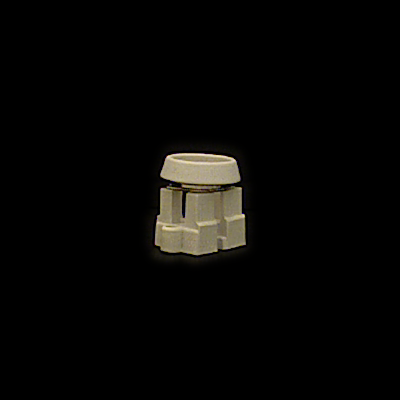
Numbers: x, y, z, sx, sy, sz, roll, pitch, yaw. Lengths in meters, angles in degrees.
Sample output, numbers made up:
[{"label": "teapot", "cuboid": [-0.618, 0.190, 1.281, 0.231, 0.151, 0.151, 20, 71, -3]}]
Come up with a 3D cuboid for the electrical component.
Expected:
[{"label": "electrical component", "cuboid": [0.000, 0.000, 0.653, 0.048, 0.056, 0.067, 14, 17, 41]}]
